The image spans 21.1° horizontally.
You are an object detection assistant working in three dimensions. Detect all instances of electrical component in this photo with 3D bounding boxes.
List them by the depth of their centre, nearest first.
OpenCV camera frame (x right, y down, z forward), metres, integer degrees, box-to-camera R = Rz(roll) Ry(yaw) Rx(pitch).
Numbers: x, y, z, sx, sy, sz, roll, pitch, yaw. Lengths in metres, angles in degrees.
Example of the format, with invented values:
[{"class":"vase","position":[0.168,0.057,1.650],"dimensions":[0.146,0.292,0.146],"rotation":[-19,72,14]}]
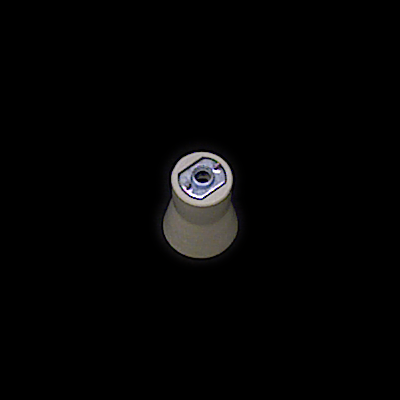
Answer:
[{"class":"electrical component","position":[0.000,0.000,0.624],"dimensions":[0.044,0.044,0.065],"rotation":[0,-27,-1]}]
